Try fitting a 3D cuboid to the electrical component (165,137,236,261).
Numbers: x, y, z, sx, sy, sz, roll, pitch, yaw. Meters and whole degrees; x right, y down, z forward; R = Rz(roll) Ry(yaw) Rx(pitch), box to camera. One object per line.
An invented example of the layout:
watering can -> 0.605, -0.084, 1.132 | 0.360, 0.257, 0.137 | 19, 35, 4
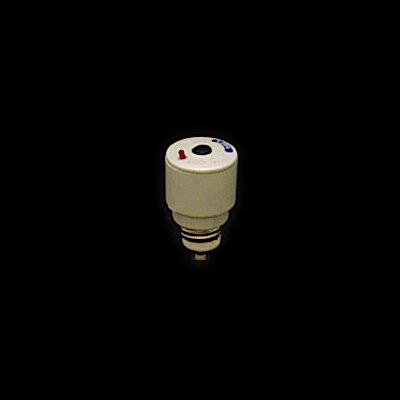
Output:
electrical component -> 0.000, 0.000, 0.628 | 0.040, 0.079, 0.039 | 0, 32, 0
